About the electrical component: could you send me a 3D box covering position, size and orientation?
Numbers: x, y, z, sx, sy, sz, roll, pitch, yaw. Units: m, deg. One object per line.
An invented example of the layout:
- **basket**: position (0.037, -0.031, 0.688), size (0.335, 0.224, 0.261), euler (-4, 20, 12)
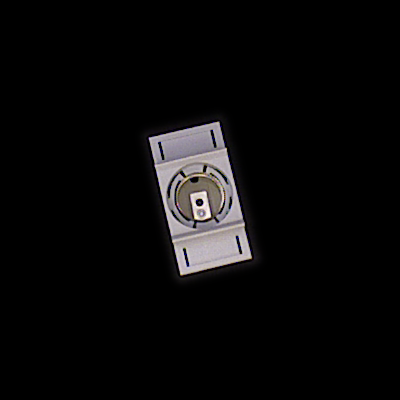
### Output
- **electrical component**: position (0.000, 0.000, 0.624), size (0.042, 0.081, 0.063), euler (-13, -7, -2)
